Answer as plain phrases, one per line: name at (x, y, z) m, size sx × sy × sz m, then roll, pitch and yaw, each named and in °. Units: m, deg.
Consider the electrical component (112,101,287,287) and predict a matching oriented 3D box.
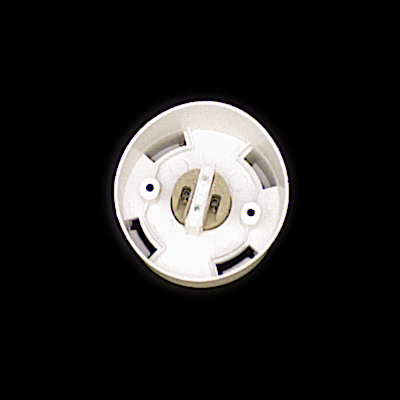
electrical component at (0.000, 0.000, 0.624) m, size 0.099 × 0.099 × 0.064 m, roll 0°, pitch -18°, yaw 0°
